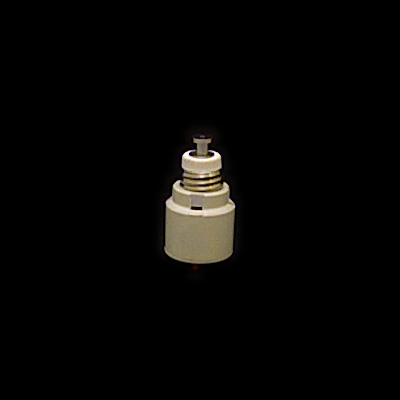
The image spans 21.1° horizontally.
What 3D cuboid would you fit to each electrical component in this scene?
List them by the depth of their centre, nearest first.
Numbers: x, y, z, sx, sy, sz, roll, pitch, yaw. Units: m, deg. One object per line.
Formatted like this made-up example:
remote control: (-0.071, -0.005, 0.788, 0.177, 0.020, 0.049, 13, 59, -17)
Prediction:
electrical component: (0.000, 0.000, 0.636, 0.040, 0.079, 0.039, 2, 21, 0)
